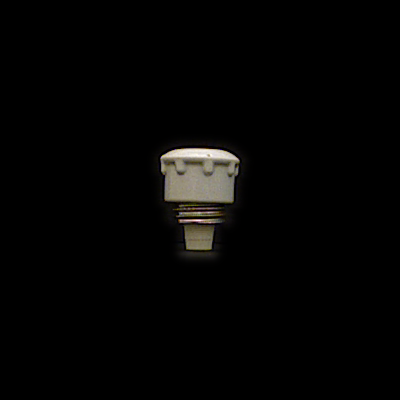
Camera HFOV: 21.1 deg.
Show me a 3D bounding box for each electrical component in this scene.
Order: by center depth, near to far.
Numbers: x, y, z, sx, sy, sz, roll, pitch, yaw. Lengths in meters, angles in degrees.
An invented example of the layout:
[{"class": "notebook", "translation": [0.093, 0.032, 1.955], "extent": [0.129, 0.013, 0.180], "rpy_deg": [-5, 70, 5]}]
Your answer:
[{"class": "electrical component", "translation": [0.000, 0.000, 0.654], "extent": [0.048, 0.062, 0.048], "rpy_deg": [1, 1, 1]}]
